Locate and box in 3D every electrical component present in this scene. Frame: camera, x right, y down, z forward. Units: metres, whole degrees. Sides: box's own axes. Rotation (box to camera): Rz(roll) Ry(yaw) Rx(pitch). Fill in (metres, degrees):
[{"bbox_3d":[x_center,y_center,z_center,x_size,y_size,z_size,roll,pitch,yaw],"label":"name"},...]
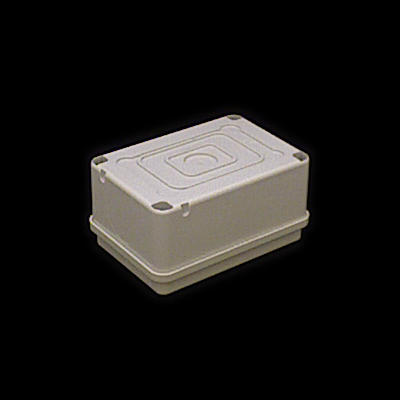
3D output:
[{"bbox_3d":[0.000,0.000,0.635,0.113,0.058,0.077,-20,37,-31],"label":"electrical component"}]
